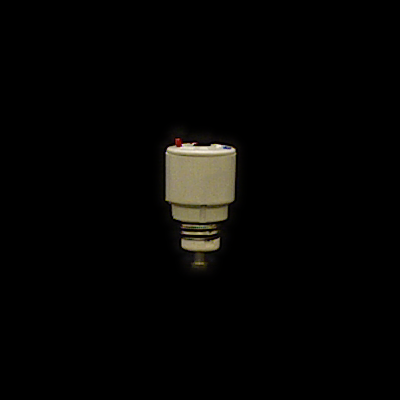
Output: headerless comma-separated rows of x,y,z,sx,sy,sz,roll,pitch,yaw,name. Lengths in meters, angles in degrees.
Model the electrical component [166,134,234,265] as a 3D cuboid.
0.000,0.000,0.642,0.040,0.079,0.040,1,12,0,electrical component
